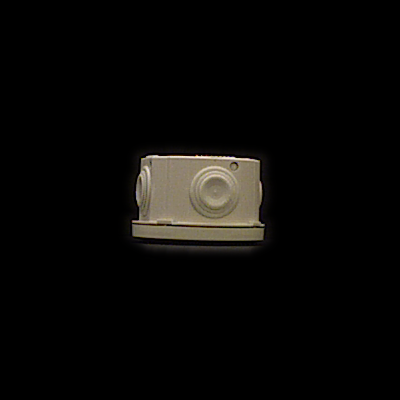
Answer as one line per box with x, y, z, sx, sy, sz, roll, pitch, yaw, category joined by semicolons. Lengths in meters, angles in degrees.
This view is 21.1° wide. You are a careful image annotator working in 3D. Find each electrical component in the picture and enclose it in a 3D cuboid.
0.000;0.000;0.650;0.080;0.051;0.080;2;0;0;electrical component
